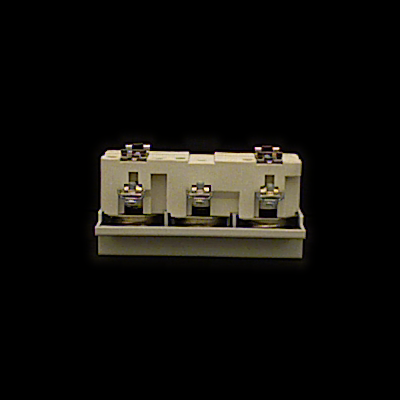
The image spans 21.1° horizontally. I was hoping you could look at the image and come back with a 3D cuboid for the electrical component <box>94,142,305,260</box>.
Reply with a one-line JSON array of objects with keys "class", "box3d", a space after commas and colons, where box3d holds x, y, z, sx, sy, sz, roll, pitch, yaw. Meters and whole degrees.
[{"class": "electrical component", "box3d": [0.000, 0.000, 0.654, 0.121, 0.063, 0.078, 1, 10, -1]}]
